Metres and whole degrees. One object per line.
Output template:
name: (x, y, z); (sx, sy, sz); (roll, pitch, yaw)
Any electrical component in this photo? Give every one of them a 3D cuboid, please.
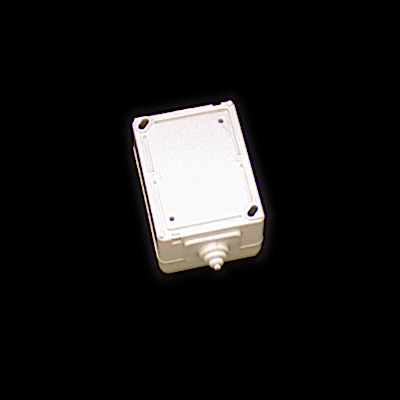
electrical component: (0.000, 0.000, 0.627); (0.062, 0.096, 0.060); (-11, -26, -6)
